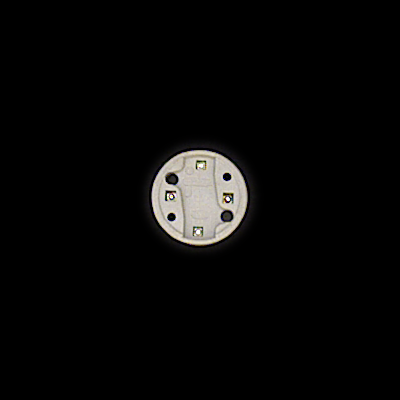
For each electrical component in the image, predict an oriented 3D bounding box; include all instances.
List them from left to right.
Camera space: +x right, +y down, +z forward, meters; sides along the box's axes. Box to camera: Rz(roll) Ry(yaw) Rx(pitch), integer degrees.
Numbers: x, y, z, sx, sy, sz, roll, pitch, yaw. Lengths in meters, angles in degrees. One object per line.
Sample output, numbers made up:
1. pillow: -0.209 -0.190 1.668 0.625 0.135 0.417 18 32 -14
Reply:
1. electrical component: 0.000 0.000 0.636 0.055 0.055 0.047 0 -6 0
